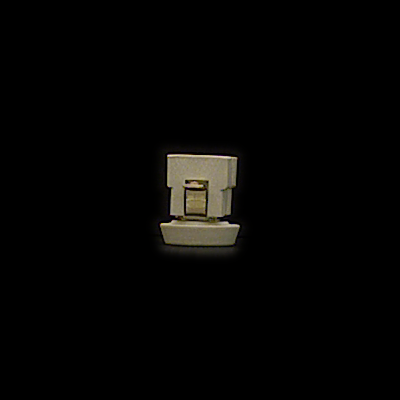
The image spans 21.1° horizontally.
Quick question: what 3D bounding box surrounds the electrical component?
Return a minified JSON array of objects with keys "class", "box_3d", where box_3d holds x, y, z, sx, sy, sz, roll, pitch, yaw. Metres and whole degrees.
[{"class":"electrical component","box_3d":[0.000,0.000,0.657,0.048,0.055,0.066,3,3,9]}]
